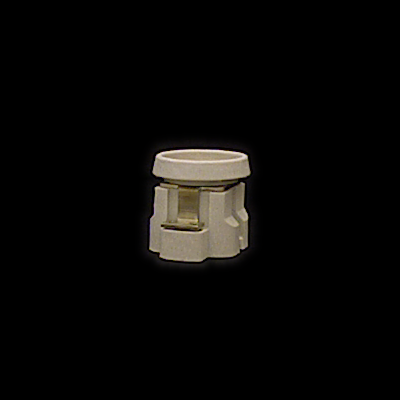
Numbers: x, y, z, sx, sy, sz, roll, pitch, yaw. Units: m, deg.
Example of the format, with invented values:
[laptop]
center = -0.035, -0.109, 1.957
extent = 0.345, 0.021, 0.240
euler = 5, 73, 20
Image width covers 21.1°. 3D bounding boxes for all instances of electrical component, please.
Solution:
[electrical component]
center = 0.000, 0.000, 0.642
extent = 0.057, 0.057, 0.078
euler = 5, 11, 17
